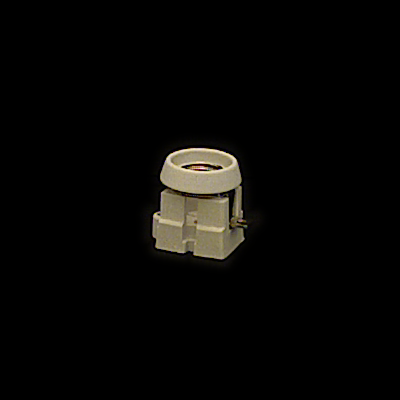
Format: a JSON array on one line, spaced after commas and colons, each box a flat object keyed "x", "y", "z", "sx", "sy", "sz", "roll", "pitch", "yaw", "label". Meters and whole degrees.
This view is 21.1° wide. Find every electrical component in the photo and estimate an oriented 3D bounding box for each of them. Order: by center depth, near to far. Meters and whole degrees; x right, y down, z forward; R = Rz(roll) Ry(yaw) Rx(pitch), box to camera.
[{"x": 0.000, "y": 0.000, "z": 0.647, "sx": 0.066, "sy": 0.056, "sz": 0.048, "roll": 9, "pitch": 25, "yaw": 18, "label": "electrical component"}]
